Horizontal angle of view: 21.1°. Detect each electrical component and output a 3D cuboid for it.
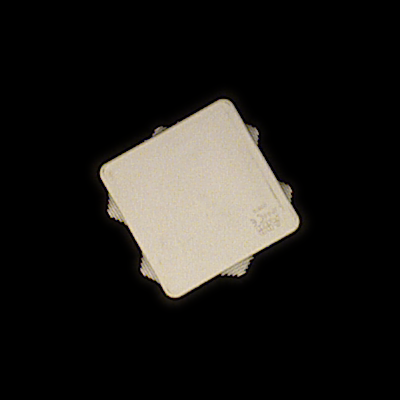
[{"bbox_3d":[0.000,0.000,0.642,0.100,0.100,0.048,-29,-5,-3],"label":"electrical component"}]
